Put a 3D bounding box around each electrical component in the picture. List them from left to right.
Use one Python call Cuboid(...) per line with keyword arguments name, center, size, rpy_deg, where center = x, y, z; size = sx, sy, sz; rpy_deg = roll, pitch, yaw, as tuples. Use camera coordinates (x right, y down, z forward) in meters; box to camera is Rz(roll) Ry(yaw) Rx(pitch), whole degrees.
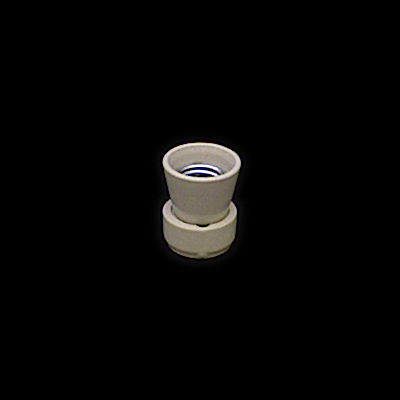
Cuboid(name="electrical component", center=(0.000, 0.000, 0.637), size=(0.045, 0.056, 0.044), rpy_deg=(1, 32, -1))
